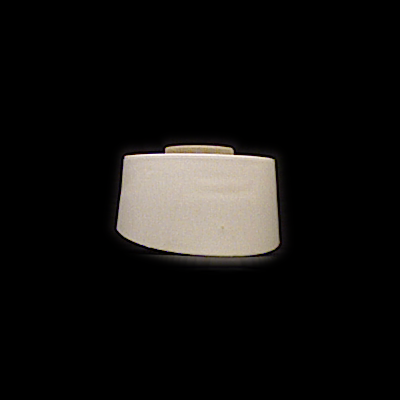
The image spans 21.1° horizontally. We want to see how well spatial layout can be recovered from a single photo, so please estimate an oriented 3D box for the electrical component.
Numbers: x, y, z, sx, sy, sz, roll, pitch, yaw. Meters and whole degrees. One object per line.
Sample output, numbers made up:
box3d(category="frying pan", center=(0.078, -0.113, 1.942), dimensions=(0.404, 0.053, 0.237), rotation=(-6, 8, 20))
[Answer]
box3d(category="electrical component", center=(0.000, 0.000, 0.650), dimensions=(0.099, 0.064, 0.099), rotation=(1, 0, 0))
